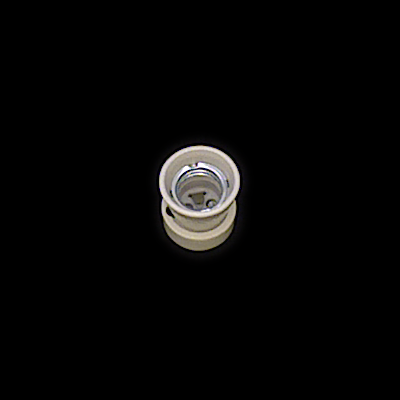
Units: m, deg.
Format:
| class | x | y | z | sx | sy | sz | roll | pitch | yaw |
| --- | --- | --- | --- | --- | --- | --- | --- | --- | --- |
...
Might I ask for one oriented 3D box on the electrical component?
| class | x | y | z | sx | sy | sz | roll | pitch | yaw |
| --- | --- | --- | --- | --- | --- | --- | --- | --- | --- |
| electrical component | 0.000 | 0.000 | 0.627 | 0.045 | 0.045 | 0.055 | 0 | -26 | 0 |
